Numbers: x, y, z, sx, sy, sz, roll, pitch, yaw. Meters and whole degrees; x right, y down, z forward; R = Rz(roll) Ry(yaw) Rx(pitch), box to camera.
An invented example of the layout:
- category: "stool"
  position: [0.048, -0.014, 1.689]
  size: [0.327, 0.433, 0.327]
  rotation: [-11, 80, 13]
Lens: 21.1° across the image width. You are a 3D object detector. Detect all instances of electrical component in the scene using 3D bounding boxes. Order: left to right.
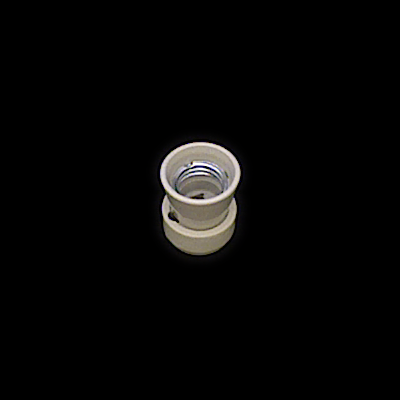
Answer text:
- category: "electrical component"
  position: [0.000, 0.000, 0.629]
  size: [0.045, 0.044, 0.055]
  rotation: [0, -37, 0]
